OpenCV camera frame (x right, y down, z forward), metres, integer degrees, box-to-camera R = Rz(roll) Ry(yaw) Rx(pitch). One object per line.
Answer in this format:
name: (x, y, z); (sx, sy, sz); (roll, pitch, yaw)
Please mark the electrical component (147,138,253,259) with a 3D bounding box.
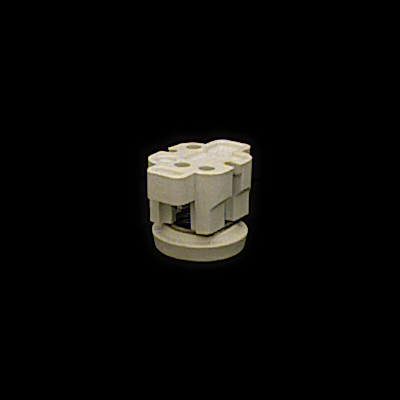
electrical component: (0.000, 0.000, 0.648); (0.057, 0.057, 0.078); (14, 23, 30)
